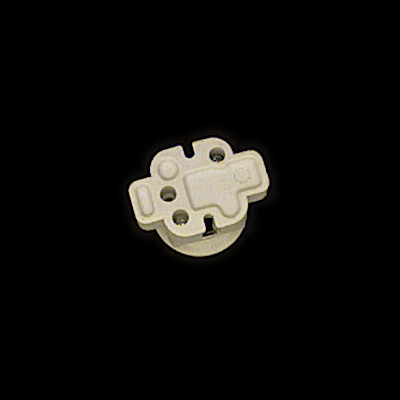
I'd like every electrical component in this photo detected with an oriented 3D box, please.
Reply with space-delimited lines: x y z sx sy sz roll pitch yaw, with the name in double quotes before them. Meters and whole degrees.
"electrical component" 0.000 0.000 0.636 0.079 0.058 0.056 -16 -16 -6
